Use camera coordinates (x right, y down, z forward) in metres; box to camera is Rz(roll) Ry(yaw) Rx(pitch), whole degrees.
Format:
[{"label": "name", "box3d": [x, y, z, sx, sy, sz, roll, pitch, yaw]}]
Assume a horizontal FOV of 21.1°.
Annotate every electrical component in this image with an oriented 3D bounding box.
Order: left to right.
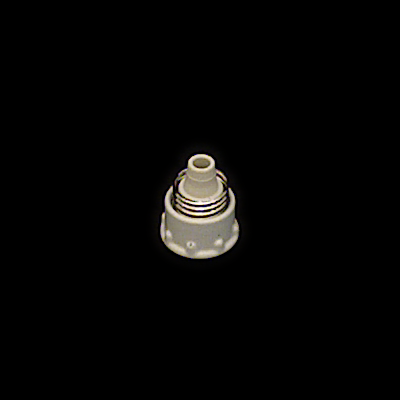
[{"label": "electrical component", "box3d": [0.000, 0.000, 0.637, 0.048, 0.062, 0.047, 1, 43, 0]}]
